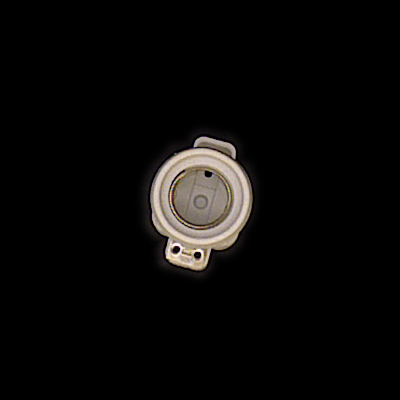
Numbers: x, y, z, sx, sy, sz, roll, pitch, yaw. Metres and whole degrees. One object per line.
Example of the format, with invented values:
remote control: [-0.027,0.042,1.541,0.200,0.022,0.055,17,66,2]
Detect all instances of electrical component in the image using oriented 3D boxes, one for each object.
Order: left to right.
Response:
electrical component: [0.000,0.000,0.629,0.058,0.079,0.056,15,-6,2]
